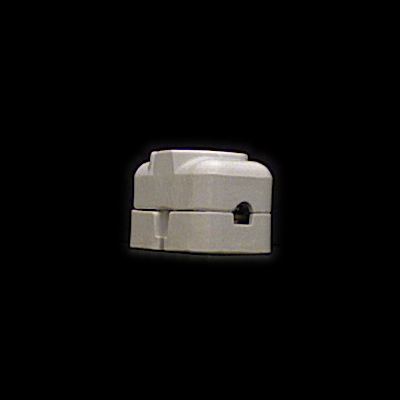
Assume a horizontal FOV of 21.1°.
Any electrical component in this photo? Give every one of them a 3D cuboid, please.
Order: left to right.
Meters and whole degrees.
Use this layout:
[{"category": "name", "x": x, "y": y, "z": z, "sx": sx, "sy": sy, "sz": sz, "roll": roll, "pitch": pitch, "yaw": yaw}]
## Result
[{"category": "electrical component", "x": 0.000, "y": 0.000, "z": 0.655, "sx": 0.054, "sy": 0.059, "sz": 0.094, "roll": 1, "pitch": 1, "yaw": -34}]
